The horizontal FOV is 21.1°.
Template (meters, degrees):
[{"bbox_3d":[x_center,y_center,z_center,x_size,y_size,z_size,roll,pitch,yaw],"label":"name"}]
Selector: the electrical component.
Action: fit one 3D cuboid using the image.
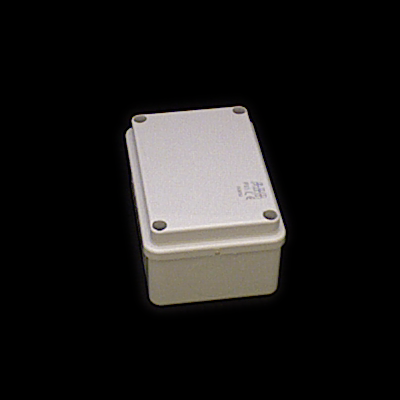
[{"bbox_3d":[0.000,0.000,0.631,0.078,0.057,0.112,-5,42,-7],"label":"electrical component"}]
